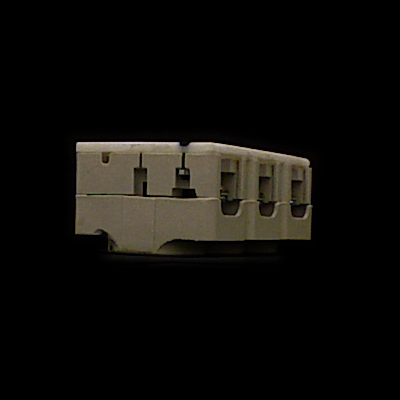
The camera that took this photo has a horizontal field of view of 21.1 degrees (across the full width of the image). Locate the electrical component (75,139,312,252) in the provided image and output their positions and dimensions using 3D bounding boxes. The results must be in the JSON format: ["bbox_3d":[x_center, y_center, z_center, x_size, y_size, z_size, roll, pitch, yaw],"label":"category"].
[{"bbox_3d":[0.000,0.000,0.660,0.089,0.062,0.150,2,-1,27],"label":"electrical component"}]
